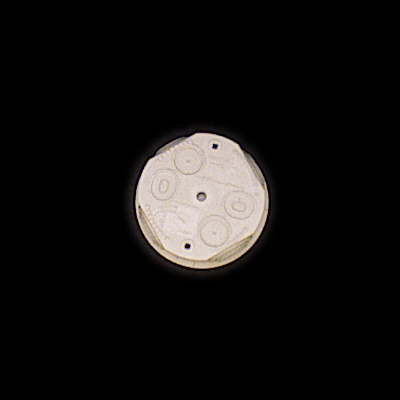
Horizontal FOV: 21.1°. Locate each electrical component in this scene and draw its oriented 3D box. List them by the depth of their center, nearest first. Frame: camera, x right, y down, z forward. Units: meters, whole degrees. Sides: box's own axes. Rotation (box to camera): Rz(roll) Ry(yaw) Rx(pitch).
[{"bbox_3d":[0.000,0.000,0.633,0.080,0.080,0.050,0,-6,0],"label":"electrical component"}]
